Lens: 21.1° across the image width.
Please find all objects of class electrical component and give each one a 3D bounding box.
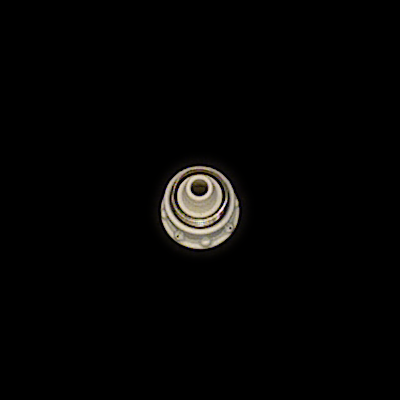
[{"bbox_3d":[0.000,0.000,0.633,0.048,0.048,0.061,0,-15,0],"label":"electrical component"}]
